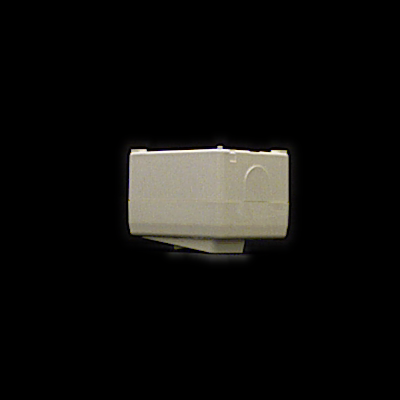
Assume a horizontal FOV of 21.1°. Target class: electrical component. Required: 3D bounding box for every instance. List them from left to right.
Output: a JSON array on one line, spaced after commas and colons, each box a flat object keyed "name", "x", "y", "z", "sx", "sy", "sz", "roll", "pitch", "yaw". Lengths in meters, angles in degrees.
[{"name": "electrical component", "x": 0.000, "y": 0.000, "z": 0.654, "sx": 0.062, "sy": 0.061, "sz": 0.095, "roll": 0, "pitch": 1, "yaw": -45}]
